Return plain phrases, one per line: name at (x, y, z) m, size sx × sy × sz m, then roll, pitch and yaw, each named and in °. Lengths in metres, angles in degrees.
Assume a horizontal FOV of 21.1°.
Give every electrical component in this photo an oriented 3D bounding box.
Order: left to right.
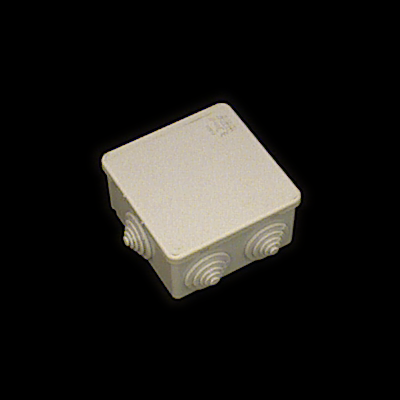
electrical component at (0.000, 0.000, 0.641) m, size 0.100 × 0.099 × 0.049 m, roll -25°, pitch -33°, yaw -18°
